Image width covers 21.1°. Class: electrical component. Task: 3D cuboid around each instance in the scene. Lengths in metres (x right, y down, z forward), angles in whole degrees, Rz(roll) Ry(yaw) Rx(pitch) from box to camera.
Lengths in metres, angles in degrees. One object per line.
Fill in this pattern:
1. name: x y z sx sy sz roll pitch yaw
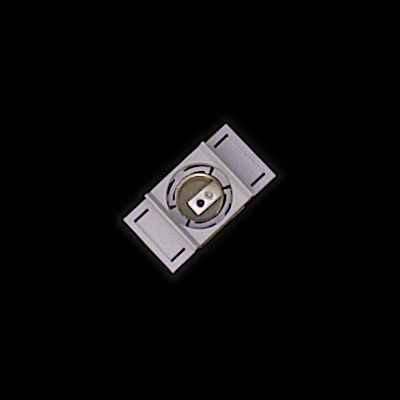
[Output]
1. electrical component: 0.000 0.000 0.625 0.081 0.042 0.063 -43 -5 -4
